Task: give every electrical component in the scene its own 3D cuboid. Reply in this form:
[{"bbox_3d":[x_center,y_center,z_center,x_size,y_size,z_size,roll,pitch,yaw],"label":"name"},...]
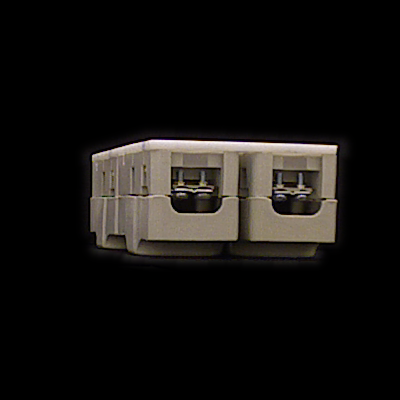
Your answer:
[{"bbox_3d":[0.000,0.000,0.650,0.106,0.060,0.186,1,0,-15],"label":"electrical component"}]
